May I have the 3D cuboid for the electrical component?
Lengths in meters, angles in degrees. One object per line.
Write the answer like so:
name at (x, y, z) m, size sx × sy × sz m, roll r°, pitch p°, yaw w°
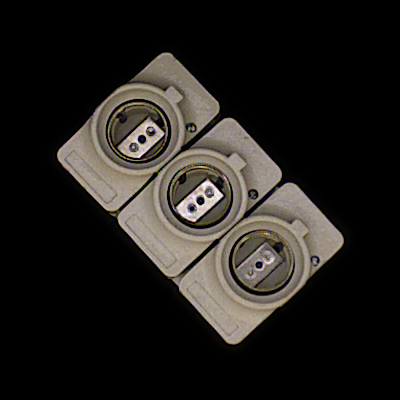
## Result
electrical component at (0.000, 0.000, 0.632) m, size 0.089 × 0.150 × 0.061 m, roll -43°, pitch -4°, yaw -5°
